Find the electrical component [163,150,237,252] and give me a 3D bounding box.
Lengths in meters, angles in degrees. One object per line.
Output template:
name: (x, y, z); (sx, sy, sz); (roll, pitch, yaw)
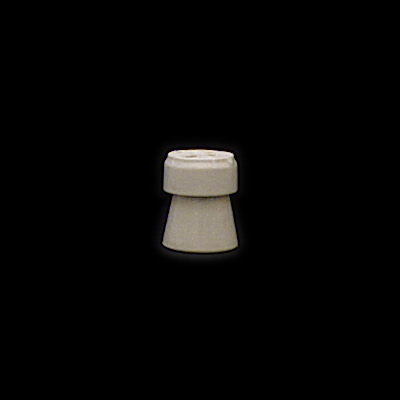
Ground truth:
electrical component: (0.000, 0.000, 0.643); (0.045, 0.055, 0.044); (1, 11, 0)
